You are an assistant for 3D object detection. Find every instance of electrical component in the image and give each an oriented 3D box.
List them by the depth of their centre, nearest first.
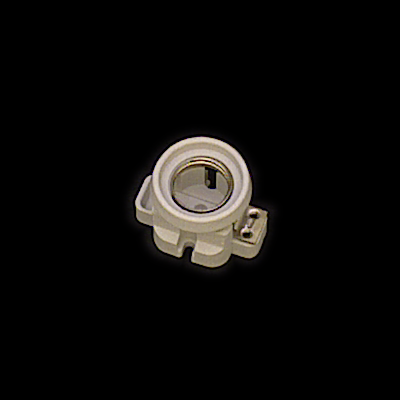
[{"bbox_3d":[0.000,0.000,0.629,0.078,0.058,0.057,18,-26,9],"label":"electrical component"}]
